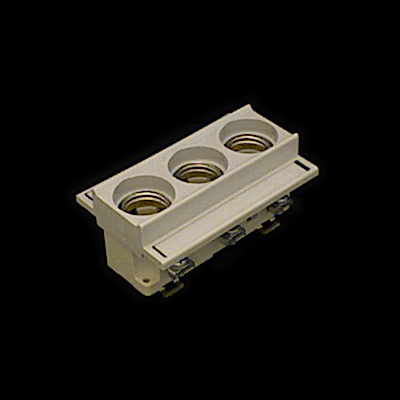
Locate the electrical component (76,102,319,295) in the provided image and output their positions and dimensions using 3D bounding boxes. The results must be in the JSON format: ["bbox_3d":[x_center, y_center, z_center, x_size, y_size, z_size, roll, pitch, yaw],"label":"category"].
[{"bbox_3d":[0.000,0.000,0.642,0.121,0.064,0.078,-31,49,-29],"label":"electrical component"}]
